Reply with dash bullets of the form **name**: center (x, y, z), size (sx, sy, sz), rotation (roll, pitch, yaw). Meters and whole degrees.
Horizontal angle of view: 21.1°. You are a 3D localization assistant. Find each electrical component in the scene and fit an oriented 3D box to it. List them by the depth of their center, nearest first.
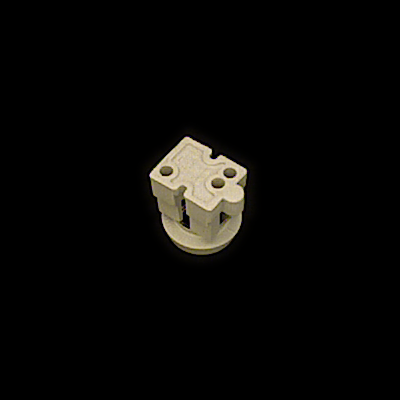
- **electrical component**: center (0.000, 0.000, 0.638), size (0.066, 0.048, 0.056), rotation (31, -30, 22)
